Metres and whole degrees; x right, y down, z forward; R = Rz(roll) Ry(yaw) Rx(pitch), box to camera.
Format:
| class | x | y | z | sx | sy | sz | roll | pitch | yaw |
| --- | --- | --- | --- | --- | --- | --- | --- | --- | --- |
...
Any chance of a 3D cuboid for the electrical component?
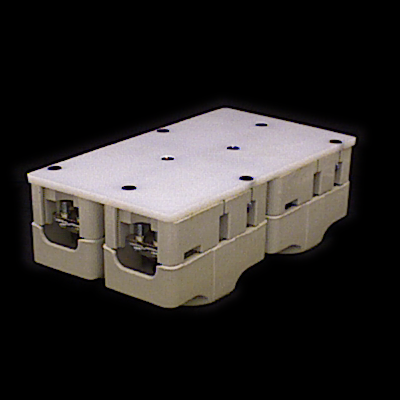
| class | x | y | z | sx | sy | sz | roll | pitch | yaw |
| --- | --- | --- | --- | --- | --- | --- | --- | --- | --- |
| electrical component | 0.000 | 0.000 | 0.638 | 0.105 | 0.061 | 0.185 | 16 | 25 | 35 |
